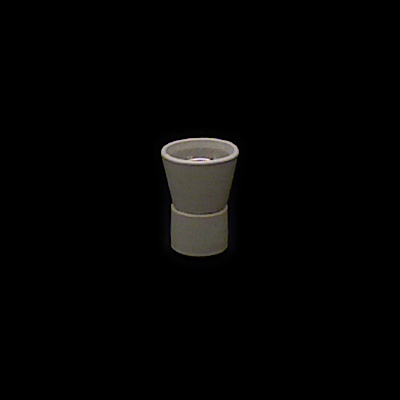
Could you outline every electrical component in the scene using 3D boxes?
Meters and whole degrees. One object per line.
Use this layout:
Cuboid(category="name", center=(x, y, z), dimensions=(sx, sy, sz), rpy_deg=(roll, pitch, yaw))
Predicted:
Cuboid(category="electrical component", center=(0.000, 0.000, 0.636), dimensions=(0.044, 0.066, 0.044), rpy_deg=(1, 22, 0))
